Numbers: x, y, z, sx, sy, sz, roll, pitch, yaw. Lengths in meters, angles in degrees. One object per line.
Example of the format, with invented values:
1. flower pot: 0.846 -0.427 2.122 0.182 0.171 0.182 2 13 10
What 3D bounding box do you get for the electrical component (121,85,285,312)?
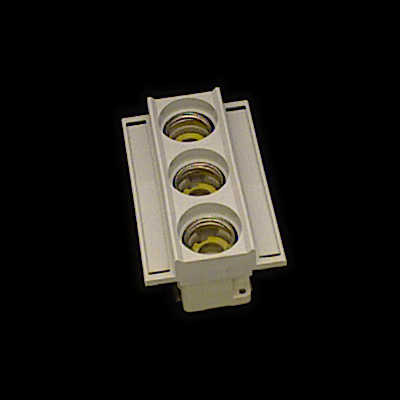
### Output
1. electrical component: 0.000 0.000 0.638 0.079 0.120 0.063 -8 -36 -4
